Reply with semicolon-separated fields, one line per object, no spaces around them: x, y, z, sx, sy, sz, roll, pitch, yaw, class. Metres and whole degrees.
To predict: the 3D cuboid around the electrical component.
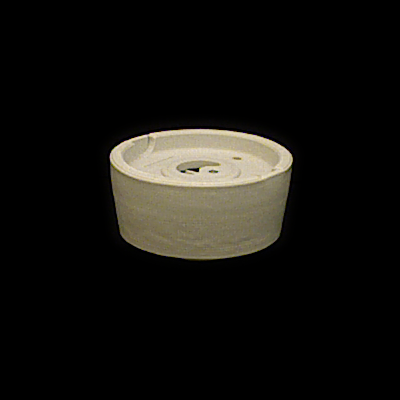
0.000;0.000;0.646;0.108;0.061;0.106;1;21;0;electrical component
